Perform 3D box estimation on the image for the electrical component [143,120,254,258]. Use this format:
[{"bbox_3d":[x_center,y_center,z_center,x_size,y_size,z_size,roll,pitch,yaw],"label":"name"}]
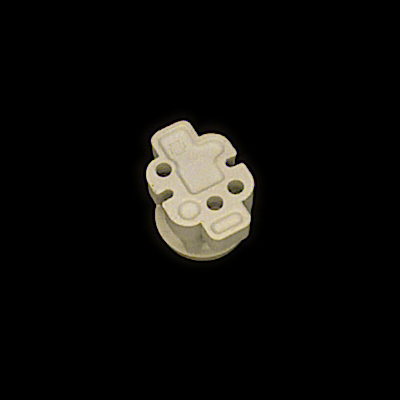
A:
[{"bbox_3d":[0.000,0.000,0.636,0.058,0.078,0.057,-28,-25,-12],"label":"electrical component"}]
